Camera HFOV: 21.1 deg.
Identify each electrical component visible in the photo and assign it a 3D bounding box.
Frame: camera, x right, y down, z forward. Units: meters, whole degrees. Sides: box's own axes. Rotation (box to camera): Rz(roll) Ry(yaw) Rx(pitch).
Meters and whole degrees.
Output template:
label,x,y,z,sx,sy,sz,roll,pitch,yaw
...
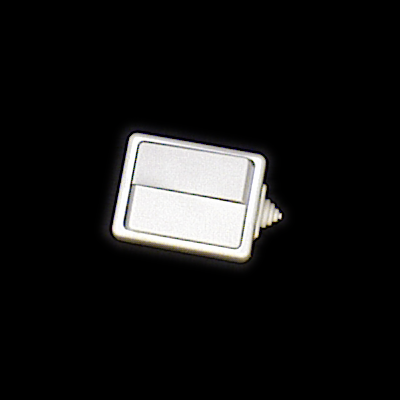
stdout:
label,x,y,z,sx,sy,sz,roll,pitch,yaw
electrical component,0.000,0.000,0.627,0.096,0.062,0.061,10,-6,2
